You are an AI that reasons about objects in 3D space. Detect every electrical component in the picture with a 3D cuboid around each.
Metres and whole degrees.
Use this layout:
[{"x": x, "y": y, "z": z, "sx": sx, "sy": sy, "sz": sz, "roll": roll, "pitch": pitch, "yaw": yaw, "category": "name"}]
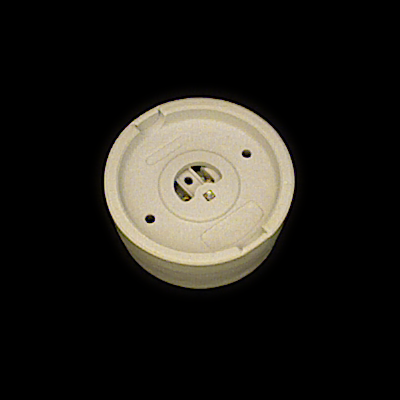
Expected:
[{"x": 0.000, "y": 0.000, "z": 0.633, "sx": 0.108, "sy": 0.108, "sz": 0.060, "roll": 0, "pitch": -27, "yaw": 0, "category": "electrical component"}]
